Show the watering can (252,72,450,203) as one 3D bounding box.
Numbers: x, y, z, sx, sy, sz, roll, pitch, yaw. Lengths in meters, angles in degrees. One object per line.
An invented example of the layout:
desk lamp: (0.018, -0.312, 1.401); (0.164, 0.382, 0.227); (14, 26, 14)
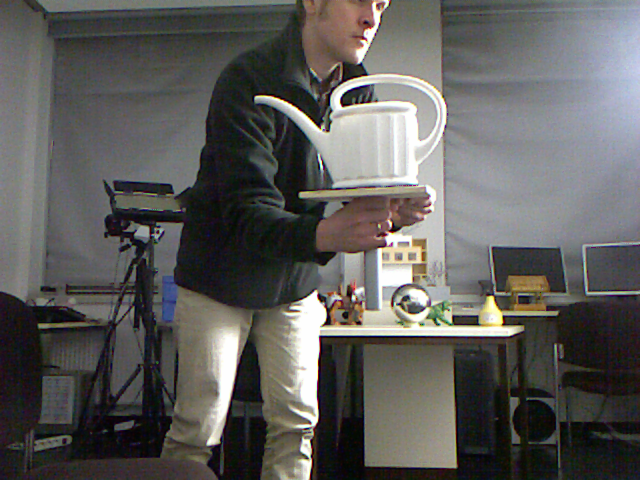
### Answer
watering can: (0.051, -0.176, 0.910); (0.348, 0.224, 0.105); (-1, 5, 15)
